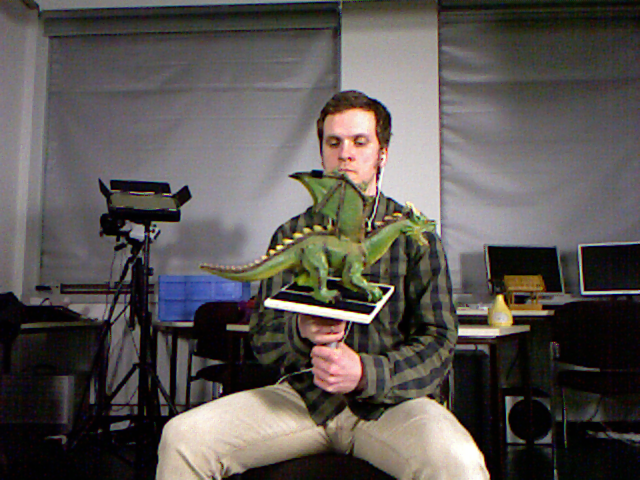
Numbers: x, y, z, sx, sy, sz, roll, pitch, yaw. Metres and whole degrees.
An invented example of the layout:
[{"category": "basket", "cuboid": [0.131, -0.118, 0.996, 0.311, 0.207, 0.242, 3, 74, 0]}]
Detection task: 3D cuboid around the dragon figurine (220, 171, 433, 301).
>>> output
[{"category": "dragon figurine", "cuboid": [0.006, -0.012, 0.975, 0.411, 0.240, 0.124, 4, 15, 4]}]
